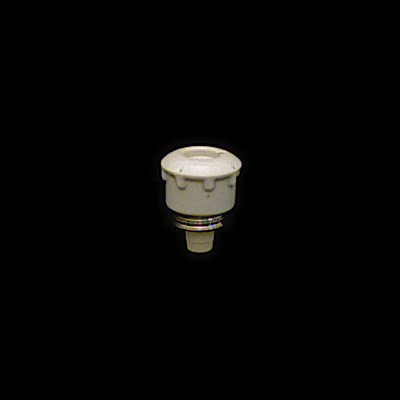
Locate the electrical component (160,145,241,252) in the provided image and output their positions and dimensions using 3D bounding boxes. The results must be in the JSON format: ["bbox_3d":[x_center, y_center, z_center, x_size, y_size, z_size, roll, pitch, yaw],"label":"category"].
[{"bbox_3d":[0.000,0.000,0.648,0.048,0.063,0.047,1,22,0],"label":"electrical component"}]
